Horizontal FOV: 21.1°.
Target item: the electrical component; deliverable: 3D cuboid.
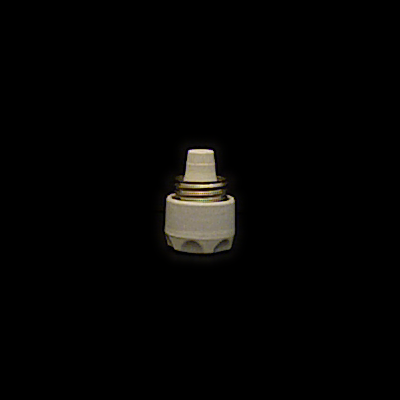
[{"bbox_3d":[0.000,0.000,0.652,0.043,0.062,0.043,1,11,0],"label":"electrical component"}]
